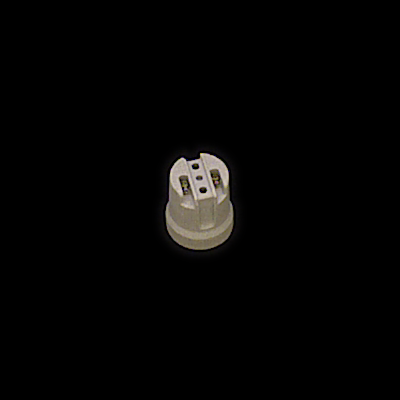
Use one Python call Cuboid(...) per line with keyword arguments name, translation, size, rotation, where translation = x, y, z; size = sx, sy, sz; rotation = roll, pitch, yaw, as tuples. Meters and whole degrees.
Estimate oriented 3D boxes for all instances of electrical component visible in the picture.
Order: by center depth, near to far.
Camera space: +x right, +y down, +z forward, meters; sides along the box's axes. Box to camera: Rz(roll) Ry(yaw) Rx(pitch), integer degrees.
Cuboid(name="electrical component", translation=(0.000, 0.000, 0.633), size=(0.040, 0.040, 0.046), rotation=(0, -38, 0))
